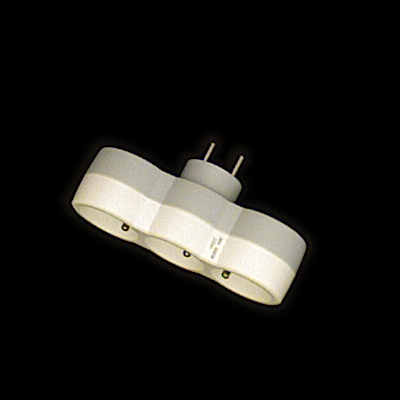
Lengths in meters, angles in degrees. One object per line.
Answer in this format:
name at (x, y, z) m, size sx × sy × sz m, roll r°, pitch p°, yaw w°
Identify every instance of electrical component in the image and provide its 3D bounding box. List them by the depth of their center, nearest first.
electrical component at (0.000, 0.000, 0.639) m, size 0.138 × 0.074 × 0.052 m, roll 25°, pitch -16°, yaw 7°
